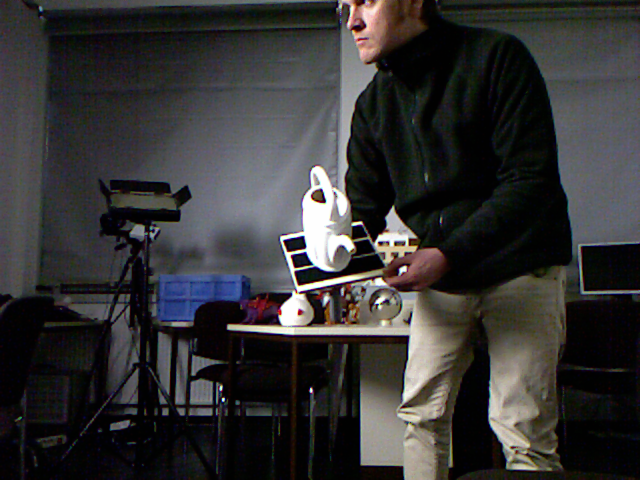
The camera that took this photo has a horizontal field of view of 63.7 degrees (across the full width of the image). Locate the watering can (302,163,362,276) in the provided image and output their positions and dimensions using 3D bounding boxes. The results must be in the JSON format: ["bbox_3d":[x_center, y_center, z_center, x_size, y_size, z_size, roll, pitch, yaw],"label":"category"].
[{"bbox_3d":[0.024,-0.016,1.075,0.104,0.219,0.356,-10,38,-7],"label":"watering can"}]
